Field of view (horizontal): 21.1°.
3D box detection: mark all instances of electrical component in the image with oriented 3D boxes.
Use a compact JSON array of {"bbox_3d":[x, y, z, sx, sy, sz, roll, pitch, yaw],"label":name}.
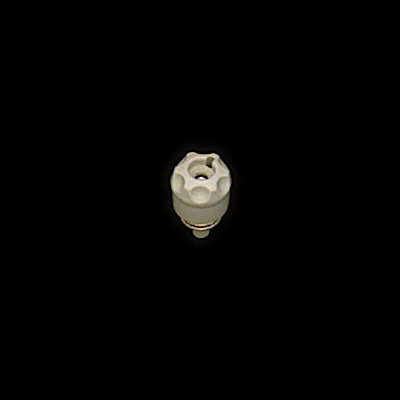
[{"bbox_3d":[0.000,0.000,0.636,0.035,0.035,0.062,0,-37,0],"label":"electrical component"}]
